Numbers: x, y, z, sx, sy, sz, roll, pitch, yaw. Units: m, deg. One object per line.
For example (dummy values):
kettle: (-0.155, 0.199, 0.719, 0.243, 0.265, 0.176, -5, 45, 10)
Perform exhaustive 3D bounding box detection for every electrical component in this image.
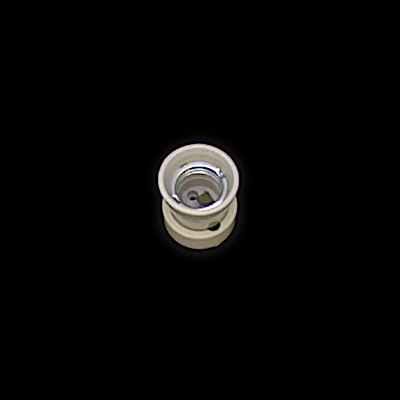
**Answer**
electrical component: (0.000, 0.000, 0.627, 0.045, 0.045, 0.055, 0, -27, 1)
